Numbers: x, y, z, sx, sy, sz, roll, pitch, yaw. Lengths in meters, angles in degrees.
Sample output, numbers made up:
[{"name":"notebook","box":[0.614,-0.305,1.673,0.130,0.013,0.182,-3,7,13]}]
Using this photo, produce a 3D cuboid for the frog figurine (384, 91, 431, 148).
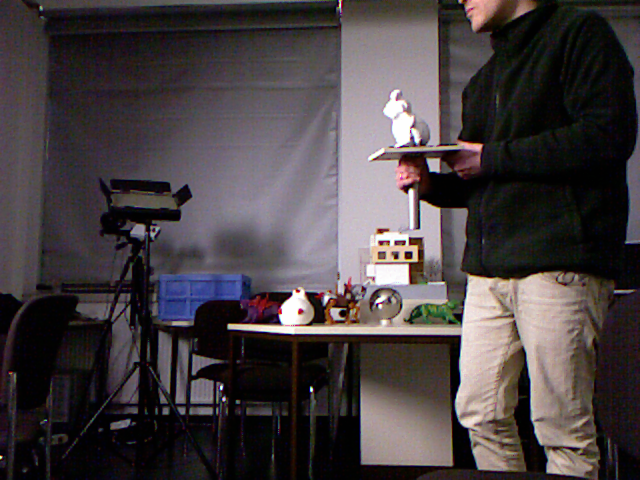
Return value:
[{"name":"frog figurine","box":[0.233,-0.316,1.372,0.123,0.159,0.139,-1,9,13]}]
